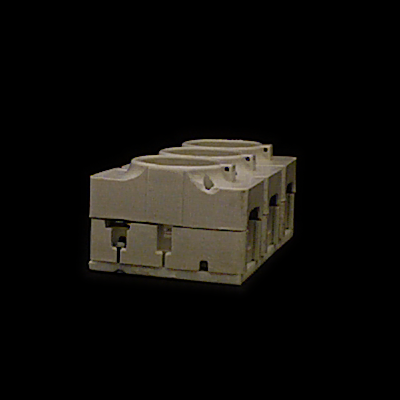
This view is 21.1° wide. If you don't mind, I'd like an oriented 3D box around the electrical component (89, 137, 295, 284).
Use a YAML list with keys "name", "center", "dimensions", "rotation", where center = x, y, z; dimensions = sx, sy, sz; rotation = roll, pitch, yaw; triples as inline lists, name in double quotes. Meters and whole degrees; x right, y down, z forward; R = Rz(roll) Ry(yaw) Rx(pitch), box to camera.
- name: "electrical component"
  center: [0.000, 0.000, 0.651]
  dimensions: [0.089, 0.062, 0.148]
  rotation: [4, 11, 15]
